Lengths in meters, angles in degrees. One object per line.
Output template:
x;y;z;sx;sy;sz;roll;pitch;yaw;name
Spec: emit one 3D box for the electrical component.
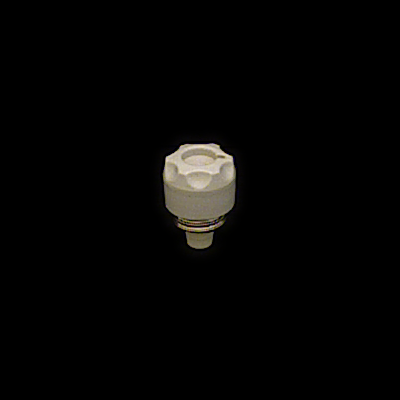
0.000;0.000;0.641;0.043;0.063;0.043;0;33;0;electrical component
